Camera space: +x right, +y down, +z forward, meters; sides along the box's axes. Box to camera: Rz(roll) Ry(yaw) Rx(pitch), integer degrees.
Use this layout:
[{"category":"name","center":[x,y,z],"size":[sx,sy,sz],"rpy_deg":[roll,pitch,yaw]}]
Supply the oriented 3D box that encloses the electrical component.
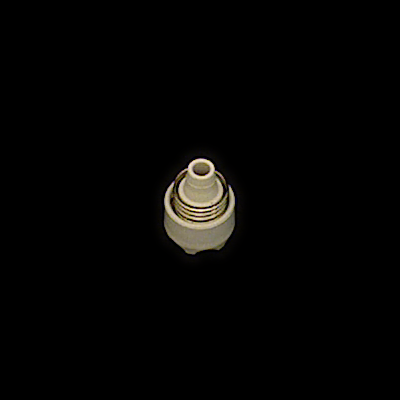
[{"category":"electrical component","center":[0.000,0.000,0.635],"size":[0.043,0.043,0.062],"rpy_deg":[0,-37,-2]}]
